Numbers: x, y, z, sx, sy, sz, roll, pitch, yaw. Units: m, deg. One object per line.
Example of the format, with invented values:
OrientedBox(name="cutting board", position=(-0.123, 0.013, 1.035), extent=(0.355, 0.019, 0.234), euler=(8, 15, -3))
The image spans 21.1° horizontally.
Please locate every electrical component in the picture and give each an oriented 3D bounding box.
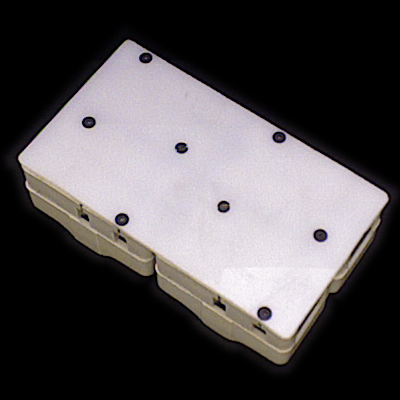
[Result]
OrientedBox(name="electrical component", position=(0.000, 0.000, 0.625), extent=(0.186, 0.106, 0.060), euler=(33, -23, 15))
